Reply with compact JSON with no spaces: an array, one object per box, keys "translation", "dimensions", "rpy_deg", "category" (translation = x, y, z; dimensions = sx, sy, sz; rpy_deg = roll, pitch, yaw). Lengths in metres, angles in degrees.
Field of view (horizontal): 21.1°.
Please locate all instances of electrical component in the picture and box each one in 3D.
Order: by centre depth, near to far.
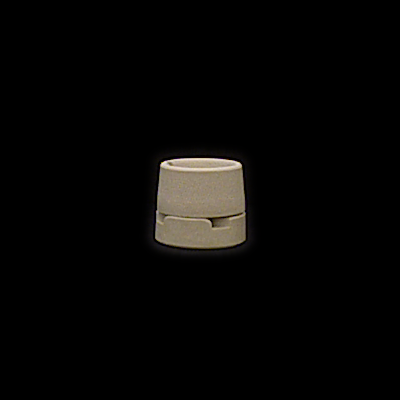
[{"translation":[0.000,0.000,0.646],"dimensions":[0.055,0.047,0.055],"rpy_deg":[0,10,0],"category":"electrical component"}]
